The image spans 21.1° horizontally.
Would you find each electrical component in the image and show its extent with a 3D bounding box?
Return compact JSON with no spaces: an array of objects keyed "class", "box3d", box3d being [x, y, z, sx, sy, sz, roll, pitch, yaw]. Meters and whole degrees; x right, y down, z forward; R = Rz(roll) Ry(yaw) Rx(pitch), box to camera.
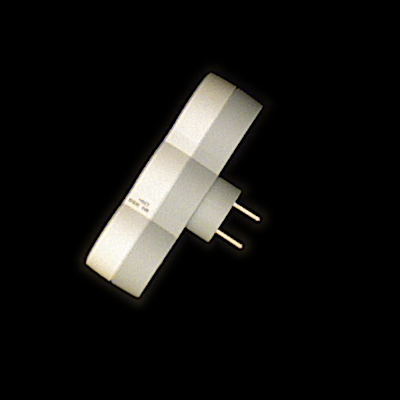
[{"class":"electrical component","box3d":[0.000,0.000,0.639,0.074,0.138,0.052,33,-5,2]}]
